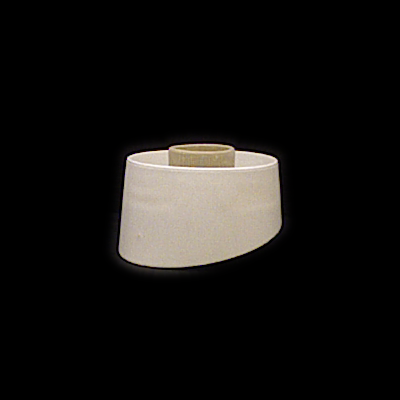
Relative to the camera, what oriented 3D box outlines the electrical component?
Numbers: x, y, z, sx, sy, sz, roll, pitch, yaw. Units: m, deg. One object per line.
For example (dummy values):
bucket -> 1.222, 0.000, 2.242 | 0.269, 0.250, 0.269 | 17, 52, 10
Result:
electrical component -> 0.000, 0.000, 0.645 | 0.099, 0.064, 0.098 | 1, 11, 0
